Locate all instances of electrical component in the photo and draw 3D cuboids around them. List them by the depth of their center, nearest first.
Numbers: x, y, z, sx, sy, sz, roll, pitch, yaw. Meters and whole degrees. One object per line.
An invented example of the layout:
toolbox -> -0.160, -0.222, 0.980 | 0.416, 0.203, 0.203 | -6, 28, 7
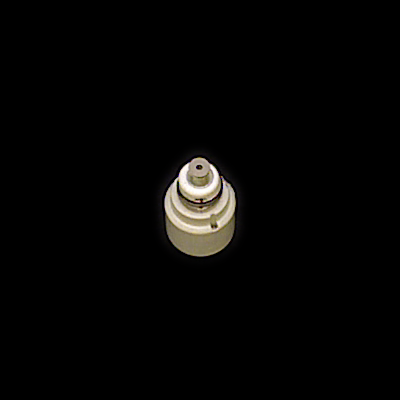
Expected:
electrical component -> 0.000, 0.000, 0.618 | 0.040, 0.040, 0.078 | 0, -28, 1
